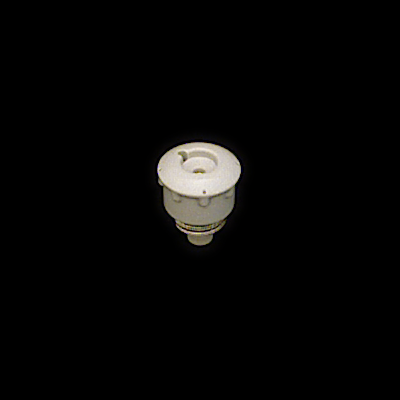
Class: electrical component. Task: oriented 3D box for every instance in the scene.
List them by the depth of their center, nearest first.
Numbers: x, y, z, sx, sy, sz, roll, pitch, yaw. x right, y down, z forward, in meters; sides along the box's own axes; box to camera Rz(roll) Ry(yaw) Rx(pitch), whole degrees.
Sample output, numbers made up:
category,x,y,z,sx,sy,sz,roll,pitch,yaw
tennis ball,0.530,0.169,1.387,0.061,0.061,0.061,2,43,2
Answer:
category,x,y,z,sx,sy,sz,roll,pitch,yaw
electrical component,0.000,0.000,0.636,0.048,0.062,0.048,1,42,0
